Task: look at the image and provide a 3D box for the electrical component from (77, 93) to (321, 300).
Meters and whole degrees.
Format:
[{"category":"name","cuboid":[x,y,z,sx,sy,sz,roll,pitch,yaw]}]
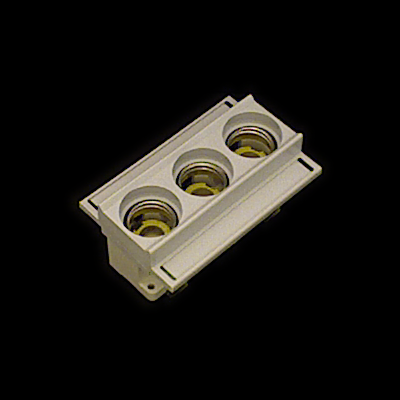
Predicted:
[{"category":"electrical component","cuboid":[0.000,0.000,0.639,0.121,0.078,0.063,-37,-27,-24]}]
